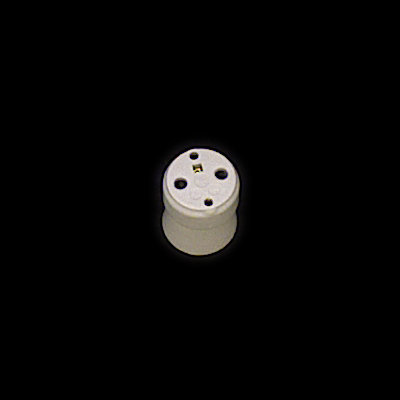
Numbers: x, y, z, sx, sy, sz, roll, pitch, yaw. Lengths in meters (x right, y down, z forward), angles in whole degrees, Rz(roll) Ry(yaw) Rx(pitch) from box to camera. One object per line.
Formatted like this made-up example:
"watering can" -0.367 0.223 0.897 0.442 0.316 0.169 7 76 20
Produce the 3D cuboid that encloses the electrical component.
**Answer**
"electrical component" 0.000 0.000 0.629 0.045 0.045 0.055 0 -27 -1
